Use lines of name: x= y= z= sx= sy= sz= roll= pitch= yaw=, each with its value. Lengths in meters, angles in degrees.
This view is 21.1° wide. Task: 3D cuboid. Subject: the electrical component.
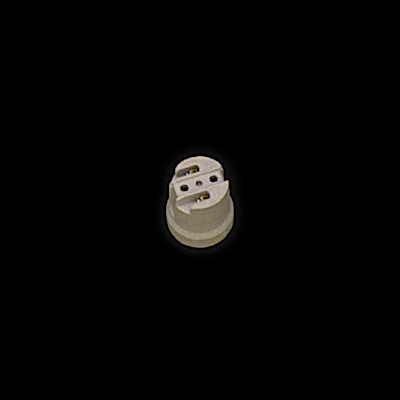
electrical component: x=0.000 y=0.000 z=0.633 sx=0.040 sy=0.040 sz=0.046 roll=0 pitch=-27 yaw=0
